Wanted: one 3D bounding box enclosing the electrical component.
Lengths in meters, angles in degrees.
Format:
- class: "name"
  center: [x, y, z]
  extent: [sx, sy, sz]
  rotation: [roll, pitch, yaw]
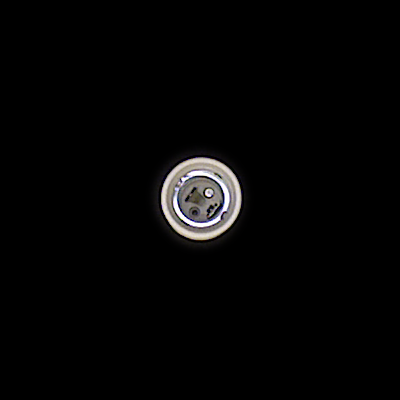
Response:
- class: "electrical component"
  center: [0.000, 0.000, 0.629]
  extent: [0.045, 0.045, 0.055]
  rotation: [0, -6, 0]
